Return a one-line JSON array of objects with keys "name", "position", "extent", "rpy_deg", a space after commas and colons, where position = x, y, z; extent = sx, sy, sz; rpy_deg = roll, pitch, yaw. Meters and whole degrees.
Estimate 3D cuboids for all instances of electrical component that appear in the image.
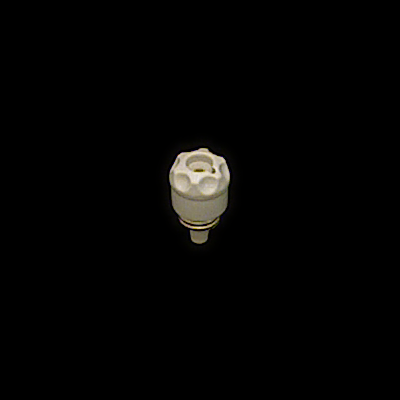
[{"name": "electrical component", "position": [0.000, 0.000, 0.636], "extent": [0.035, 0.062, 0.035], "rpy_deg": [0, 43, 0]}]
